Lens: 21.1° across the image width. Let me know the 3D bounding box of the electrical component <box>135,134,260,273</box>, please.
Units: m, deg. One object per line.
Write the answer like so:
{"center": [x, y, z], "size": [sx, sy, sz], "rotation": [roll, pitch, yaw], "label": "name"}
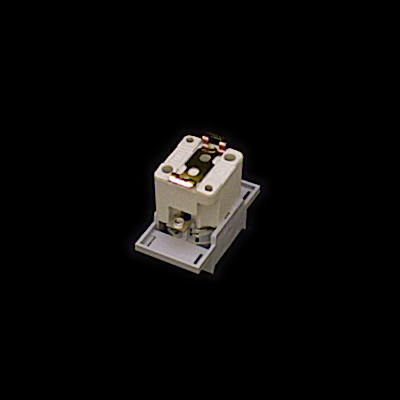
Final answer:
{"center": [0.000, 0.000, 0.629], "size": [0.042, 0.064, 0.080], "rotation": [20, 45, 19], "label": "electrical component"}
